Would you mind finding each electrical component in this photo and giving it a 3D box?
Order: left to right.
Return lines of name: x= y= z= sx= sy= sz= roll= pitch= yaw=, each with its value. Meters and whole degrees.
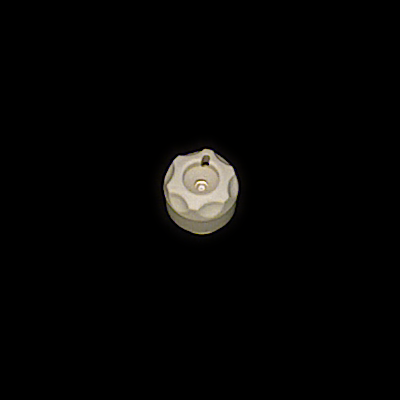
electrical component: x=0.000 y=0.000 z=0.633 sx=0.043 sy=0.043 sz=0.062 roll=0 pitch=-26 yaw=0
